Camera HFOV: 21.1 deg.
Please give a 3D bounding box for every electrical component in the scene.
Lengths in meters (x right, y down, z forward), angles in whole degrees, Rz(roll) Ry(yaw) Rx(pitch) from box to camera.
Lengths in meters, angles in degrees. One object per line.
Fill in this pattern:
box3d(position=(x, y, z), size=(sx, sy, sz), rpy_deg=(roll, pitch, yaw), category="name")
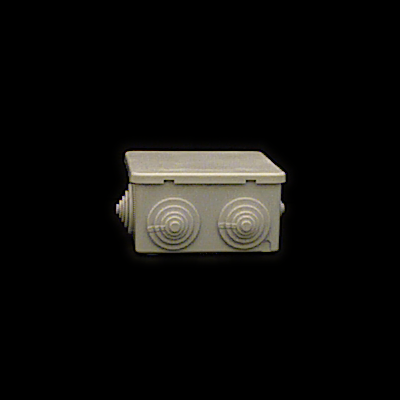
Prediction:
box3d(position=(0.000, 0.000, 0.650), size=(0.100, 0.049, 0.099), rpy_deg=(0, 11, -7), category="electrical component")
